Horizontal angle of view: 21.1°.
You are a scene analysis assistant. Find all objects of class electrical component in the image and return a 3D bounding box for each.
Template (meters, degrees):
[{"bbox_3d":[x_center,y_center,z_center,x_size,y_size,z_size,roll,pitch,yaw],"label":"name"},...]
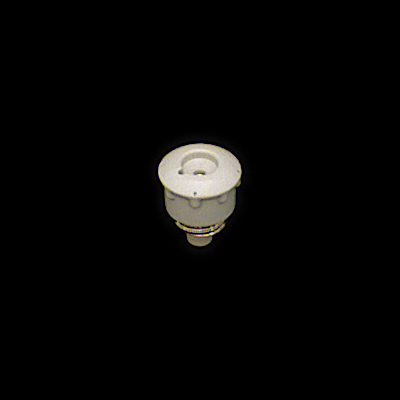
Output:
[{"bbox_3d":[0.000,0.000,0.636,0.048,0.062,0.047,0,43,0],"label":"electrical component"}]
